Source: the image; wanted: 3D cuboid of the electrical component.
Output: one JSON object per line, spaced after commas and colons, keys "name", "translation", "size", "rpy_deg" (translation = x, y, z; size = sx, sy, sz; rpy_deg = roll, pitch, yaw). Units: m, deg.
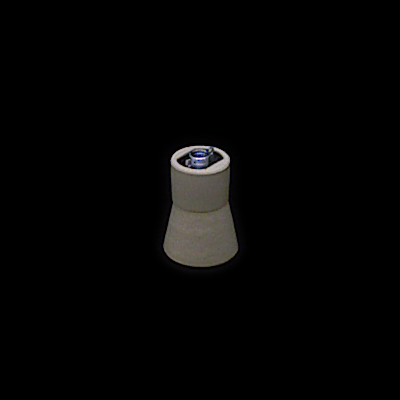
{"name": "electrical component", "translation": [0.000, 0.000, 0.634], "size": [0.044, 0.066, 0.044], "rpy_deg": [0, 31, 0]}
